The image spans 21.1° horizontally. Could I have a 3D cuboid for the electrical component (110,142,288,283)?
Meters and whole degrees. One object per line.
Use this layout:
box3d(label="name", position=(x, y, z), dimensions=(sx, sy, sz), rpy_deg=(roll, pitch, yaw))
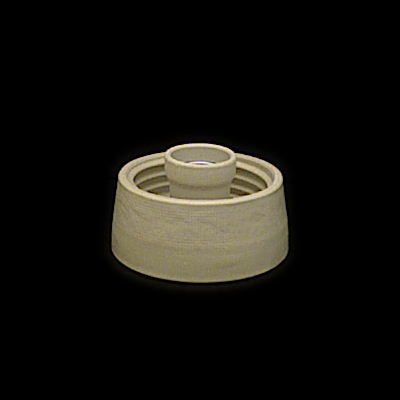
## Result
box3d(label="electrical component", position=(0.000, 0.000, 0.645), dimensions=(0.108, 0.061, 0.106), rpy_deg=(1, 22, 0))
